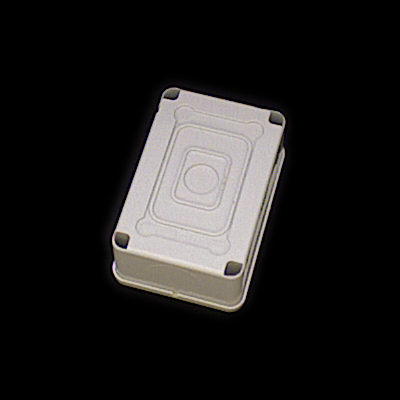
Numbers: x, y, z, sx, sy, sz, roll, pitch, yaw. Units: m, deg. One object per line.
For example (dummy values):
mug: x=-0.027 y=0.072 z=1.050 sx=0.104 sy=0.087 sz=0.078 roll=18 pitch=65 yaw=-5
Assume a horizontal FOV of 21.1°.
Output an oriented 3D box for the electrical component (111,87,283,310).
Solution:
electrical component: x=0.000 y=0.000 z=0.628 sx=0.078 sy=0.113 sz=0.057 roll=14 pitch=-26 yaw=7
